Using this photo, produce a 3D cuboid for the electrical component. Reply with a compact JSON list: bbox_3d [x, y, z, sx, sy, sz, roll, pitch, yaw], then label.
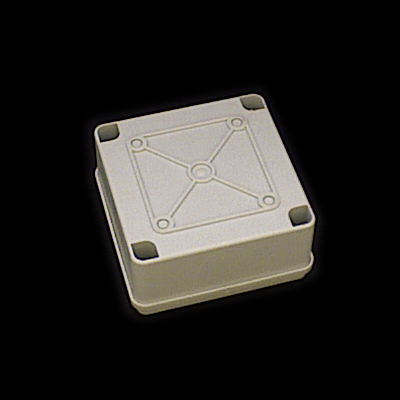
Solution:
[{"bbox_3d":[0.000,0.000,0.631,0.109,0.108,0.056,-12,-37,-10],"label":"electrical component"}]
